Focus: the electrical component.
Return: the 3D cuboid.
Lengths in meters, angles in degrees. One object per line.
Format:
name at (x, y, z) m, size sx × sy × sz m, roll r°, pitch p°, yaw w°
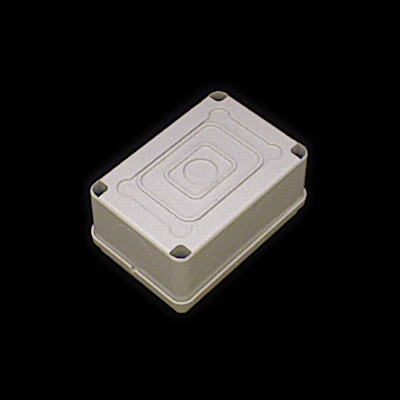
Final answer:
electrical component at (0.000, 0.000, 0.629) m, size 0.078 × 0.057 × 0.113 m, roll 37°, pitch 61°, yaw 24°
